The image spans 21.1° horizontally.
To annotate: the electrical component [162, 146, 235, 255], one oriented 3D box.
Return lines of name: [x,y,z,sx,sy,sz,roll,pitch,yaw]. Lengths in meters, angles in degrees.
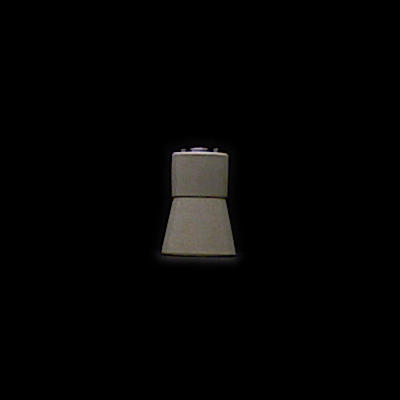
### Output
electrical component: [0.000,0.000,0.651,0.044,0.065,0.044,1,0,0]
